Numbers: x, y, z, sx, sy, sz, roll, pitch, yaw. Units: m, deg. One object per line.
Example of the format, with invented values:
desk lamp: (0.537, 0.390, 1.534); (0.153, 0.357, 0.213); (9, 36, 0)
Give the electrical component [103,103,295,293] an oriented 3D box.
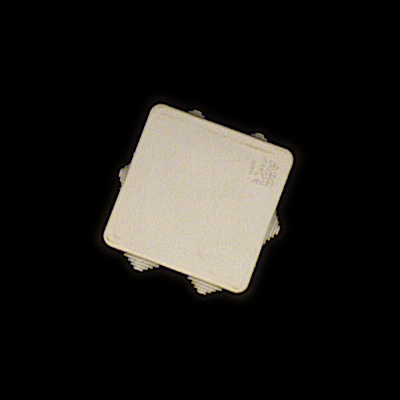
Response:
electrical component: (0.000, 0.000, 0.642); (0.100, 0.100, 0.048); (20, -6, 2)
